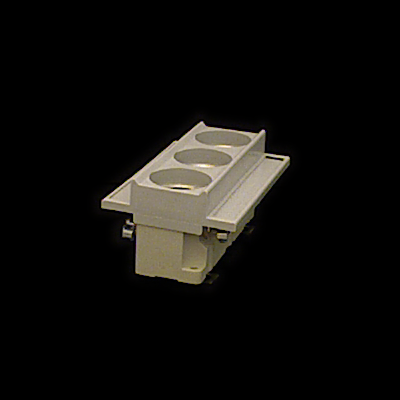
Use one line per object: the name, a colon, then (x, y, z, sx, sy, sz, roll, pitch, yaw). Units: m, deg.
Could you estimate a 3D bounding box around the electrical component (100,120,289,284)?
electrical component: (0.000, 0.000, 0.652, 0.078, 0.064, 0.120, 9, 23, 16)
